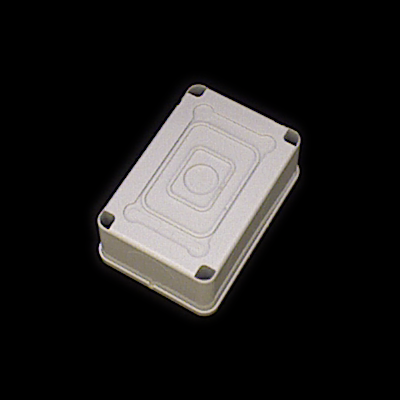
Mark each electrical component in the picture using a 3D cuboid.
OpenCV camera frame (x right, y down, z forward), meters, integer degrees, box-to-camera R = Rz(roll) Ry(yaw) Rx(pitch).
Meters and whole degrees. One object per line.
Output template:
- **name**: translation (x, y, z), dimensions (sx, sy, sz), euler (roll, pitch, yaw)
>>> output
- **electrical component**: translation (0.000, 0.000, 0.628), dimensions (0.078, 0.113, 0.057), euler (28, -23, 13)
